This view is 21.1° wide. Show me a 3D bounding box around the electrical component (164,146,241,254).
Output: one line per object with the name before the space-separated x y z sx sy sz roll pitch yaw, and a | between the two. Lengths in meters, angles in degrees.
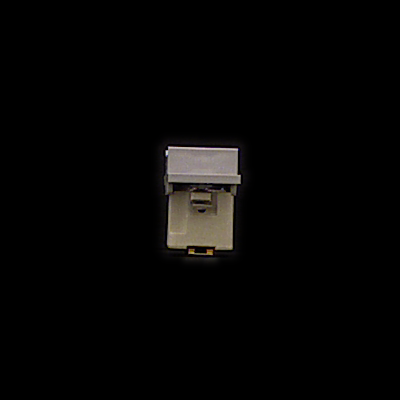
electrical component | 0.000 0.000 0.652 0.042 0.064 0.081 0 1 -3
